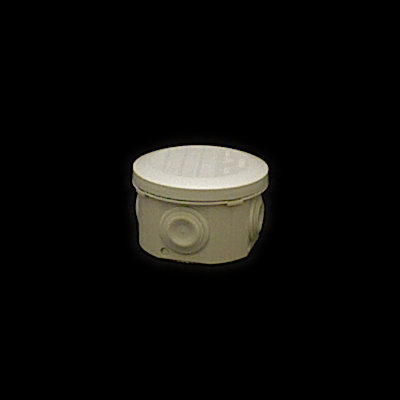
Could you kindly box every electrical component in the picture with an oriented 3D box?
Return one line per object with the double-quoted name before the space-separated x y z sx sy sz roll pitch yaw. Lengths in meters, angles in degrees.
"electrical component" 0.000 0.000 0.638 0.080 0.051 0.079 1 21 0
